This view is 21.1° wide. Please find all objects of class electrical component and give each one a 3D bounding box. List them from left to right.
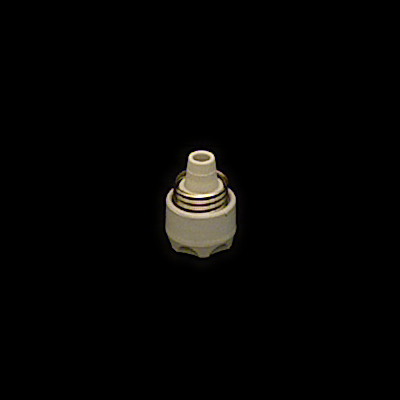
[{"bbox_3d":[0.000,0.000,0.640,0.043,0.063,0.043,1,34,0],"label":"electrical component"}]
